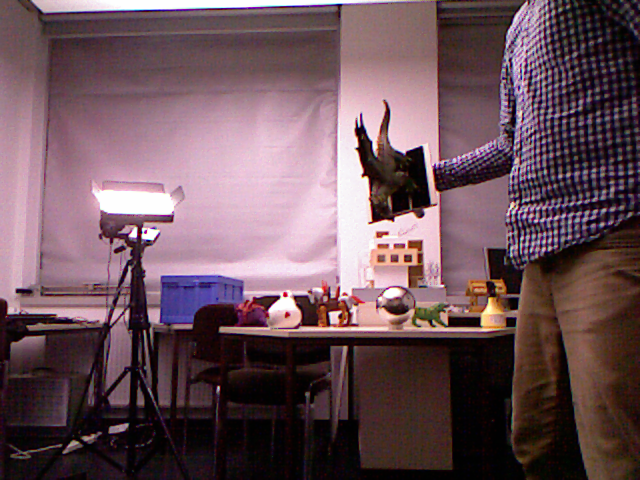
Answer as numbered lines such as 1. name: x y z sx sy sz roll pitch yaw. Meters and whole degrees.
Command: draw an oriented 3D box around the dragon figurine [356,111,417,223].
1. dragon figurine: 0.163 -0.224 1.395 0.122 0.419 0.240 -16 -25 21
